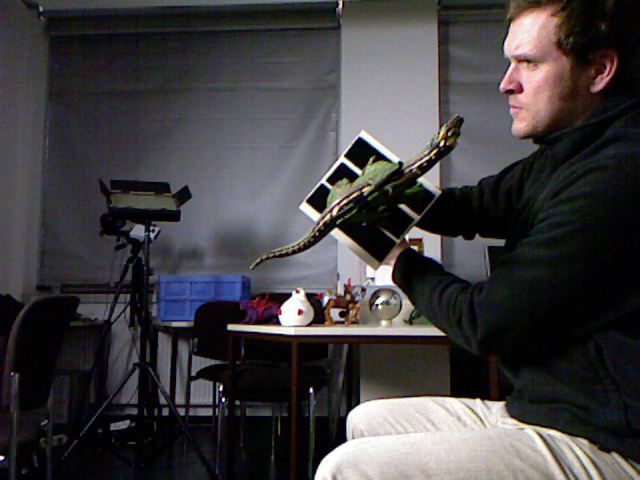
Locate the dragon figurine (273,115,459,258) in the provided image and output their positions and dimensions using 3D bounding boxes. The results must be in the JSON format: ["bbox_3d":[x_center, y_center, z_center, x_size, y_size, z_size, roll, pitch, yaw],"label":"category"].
[{"bbox_3d":[0.077,-0.078,0.908,0.413,0.123,0.243,-36,-3,1],"label":"dragon figurine"}]
